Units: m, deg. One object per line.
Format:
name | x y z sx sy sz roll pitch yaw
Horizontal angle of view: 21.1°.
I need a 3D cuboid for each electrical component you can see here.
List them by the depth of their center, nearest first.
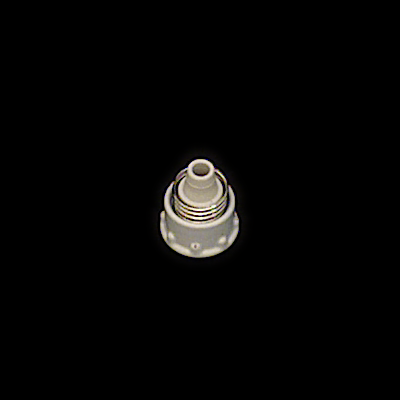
electrical component | 0.000 0.000 0.635 0.048 0.048 0.062 0 -36 -1
